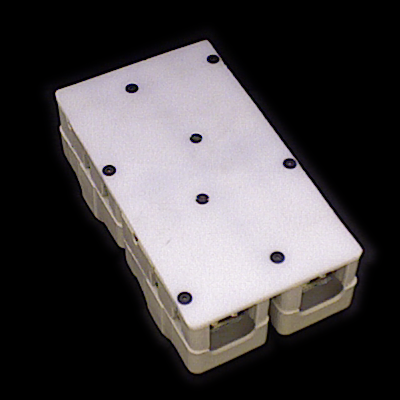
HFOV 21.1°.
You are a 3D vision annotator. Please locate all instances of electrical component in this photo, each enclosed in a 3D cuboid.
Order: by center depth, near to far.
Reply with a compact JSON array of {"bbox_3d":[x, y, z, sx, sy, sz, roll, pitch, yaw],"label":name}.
[{"bbox_3d":[0.000,0.000,0.627,0.105,0.185,0.060,-22,-34,-16],"label":"electrical component"}]
